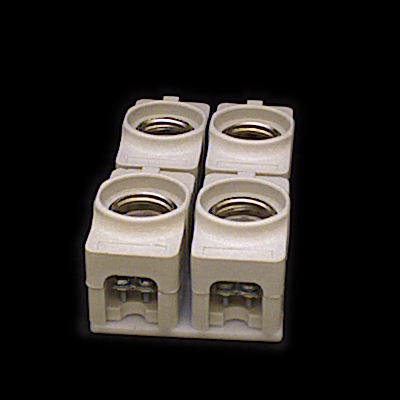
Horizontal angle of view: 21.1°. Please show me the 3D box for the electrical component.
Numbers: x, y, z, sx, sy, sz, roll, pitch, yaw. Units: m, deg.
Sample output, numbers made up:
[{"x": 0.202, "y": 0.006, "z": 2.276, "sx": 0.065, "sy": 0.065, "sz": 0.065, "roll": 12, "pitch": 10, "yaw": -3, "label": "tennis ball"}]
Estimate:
[{"x": 0.000, "y": 0.000, "z": 0.634, "sx": 0.105, "sy": 0.061, "sz": 0.184, "roll": 3, "pitch": 31, "yaw": 4, "label": "electrical component"}]
